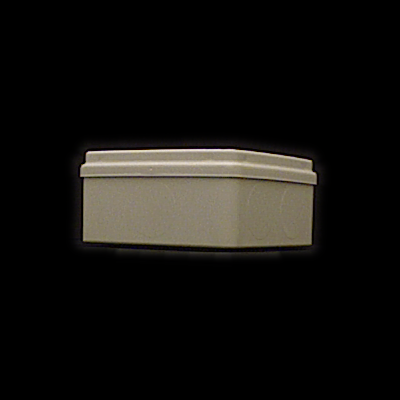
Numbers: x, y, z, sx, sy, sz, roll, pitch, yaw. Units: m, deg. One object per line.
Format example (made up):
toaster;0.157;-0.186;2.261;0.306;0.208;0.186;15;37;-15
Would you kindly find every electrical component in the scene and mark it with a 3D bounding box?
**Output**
electrical component;0.000;0.000;0.652;0.108;0.056;0.109;1;0;31
